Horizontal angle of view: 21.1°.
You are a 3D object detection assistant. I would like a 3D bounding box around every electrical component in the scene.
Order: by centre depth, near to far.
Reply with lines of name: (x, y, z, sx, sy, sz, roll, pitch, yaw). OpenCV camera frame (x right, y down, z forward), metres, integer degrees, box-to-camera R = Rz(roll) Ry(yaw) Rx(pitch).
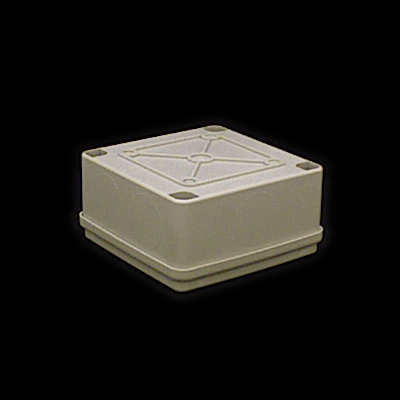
electrical component: (0.000, 0.000, 0.637, 0.108, 0.057, 0.107, -14, 26, -34)
